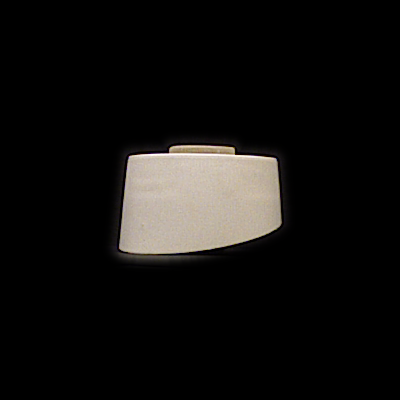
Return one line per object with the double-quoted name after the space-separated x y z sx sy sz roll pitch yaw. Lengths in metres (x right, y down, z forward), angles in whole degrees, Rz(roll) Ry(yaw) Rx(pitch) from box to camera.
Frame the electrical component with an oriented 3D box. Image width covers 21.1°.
0.000 0.000 0.650 0.099 0.064 0.099 1 0 0 "electrical component"
